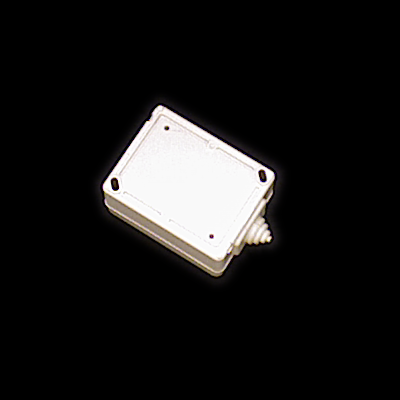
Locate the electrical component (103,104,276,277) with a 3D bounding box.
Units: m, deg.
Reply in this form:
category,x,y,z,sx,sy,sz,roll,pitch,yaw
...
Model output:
category,x,y,z,sx,sy,sz,roll,pitch,yaw
electrical component,0.000,0.000,0.627,0.096,0.062,0.060,31,-14,8
